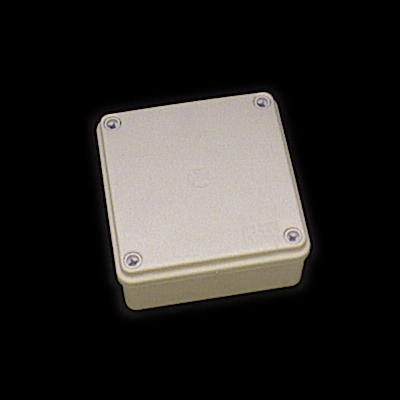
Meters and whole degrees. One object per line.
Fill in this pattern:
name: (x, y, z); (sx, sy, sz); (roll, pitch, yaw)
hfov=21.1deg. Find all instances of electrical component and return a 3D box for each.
electrical component: (0.000, 0.000, 0.630); (0.109, 0.108, 0.056); (-8, -28, -4)
